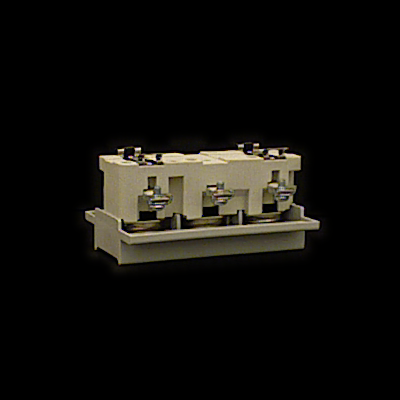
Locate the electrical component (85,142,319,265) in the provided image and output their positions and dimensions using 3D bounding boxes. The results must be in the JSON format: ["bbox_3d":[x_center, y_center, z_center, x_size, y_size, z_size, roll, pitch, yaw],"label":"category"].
[{"bbox_3d":[0.000,0.000,0.653,0.122,0.063,0.077,-4,11,-25],"label":"electrical component"}]
